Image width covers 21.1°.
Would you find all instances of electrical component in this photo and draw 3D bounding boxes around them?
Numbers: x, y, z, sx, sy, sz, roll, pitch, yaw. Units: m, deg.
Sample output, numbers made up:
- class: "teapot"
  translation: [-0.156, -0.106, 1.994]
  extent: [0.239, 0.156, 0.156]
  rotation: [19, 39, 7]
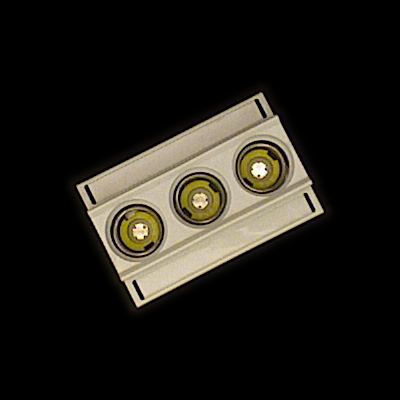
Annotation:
- class: "electrical component"
  translation: [0.000, 0.000, 0.637]
  extent: [0.121, 0.079, 0.063]
  rotation: [-27, -4, -2]
